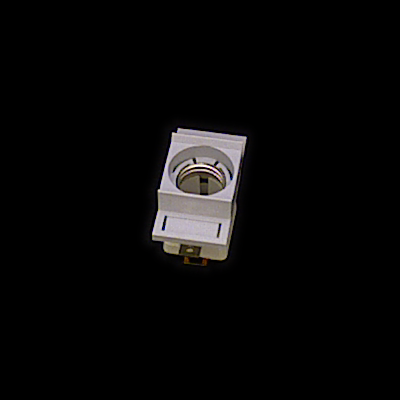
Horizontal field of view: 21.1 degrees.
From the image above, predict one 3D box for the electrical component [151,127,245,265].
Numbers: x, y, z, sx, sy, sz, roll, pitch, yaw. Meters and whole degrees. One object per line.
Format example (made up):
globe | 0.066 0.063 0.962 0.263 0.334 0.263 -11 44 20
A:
electrical component | 0.000 0.000 0.624 0.042 0.080 0.064 9 -38 5
